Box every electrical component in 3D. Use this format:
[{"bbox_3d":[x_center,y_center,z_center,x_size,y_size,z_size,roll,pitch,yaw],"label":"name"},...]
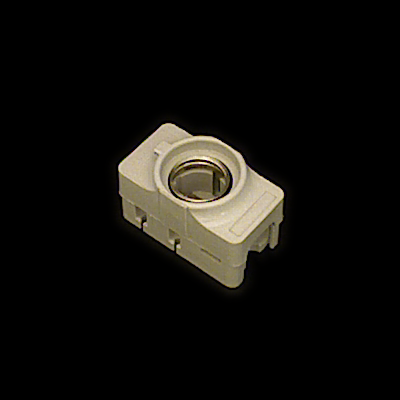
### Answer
[{"bbox_3d":[0.000,0.000,0.637,0.089,0.050,0.056,32,-31,21],"label":"electrical component"}]
